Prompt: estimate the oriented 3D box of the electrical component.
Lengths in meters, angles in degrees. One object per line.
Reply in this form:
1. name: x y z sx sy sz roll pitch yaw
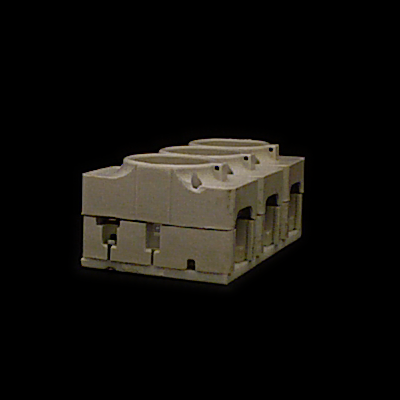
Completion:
1. electrical component: 0.000 0.000 0.651 0.089 0.062 0.148 5 11 20
